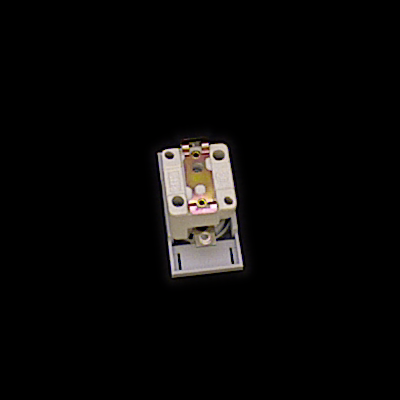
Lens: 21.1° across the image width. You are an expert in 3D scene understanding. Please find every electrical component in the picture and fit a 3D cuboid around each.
[{"bbox_3d":[0.000,0.000,0.625,0.042,0.081,0.063,-7,-27,-4],"label":"electrical component"}]
